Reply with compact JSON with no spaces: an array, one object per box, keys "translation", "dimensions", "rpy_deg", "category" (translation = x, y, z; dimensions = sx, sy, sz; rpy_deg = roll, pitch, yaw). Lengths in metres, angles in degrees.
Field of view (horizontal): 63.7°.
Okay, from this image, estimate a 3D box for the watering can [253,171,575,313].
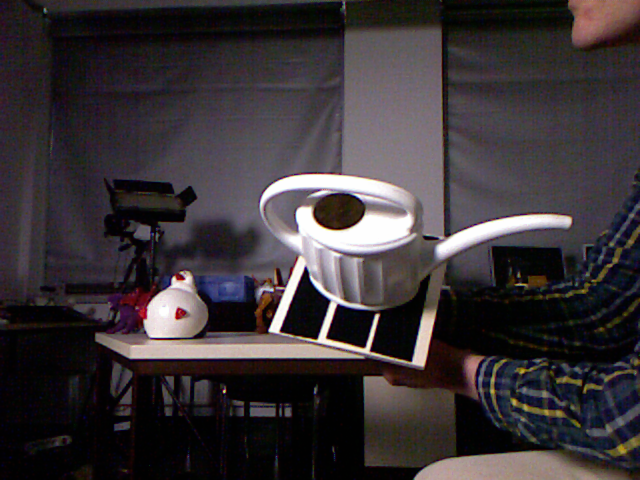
[{"translation":[0.091,0.009,0.614],"dimensions":[0.351,0.107,0.221],"rpy_deg":[9,-34,14],"category":"watering can"}]
